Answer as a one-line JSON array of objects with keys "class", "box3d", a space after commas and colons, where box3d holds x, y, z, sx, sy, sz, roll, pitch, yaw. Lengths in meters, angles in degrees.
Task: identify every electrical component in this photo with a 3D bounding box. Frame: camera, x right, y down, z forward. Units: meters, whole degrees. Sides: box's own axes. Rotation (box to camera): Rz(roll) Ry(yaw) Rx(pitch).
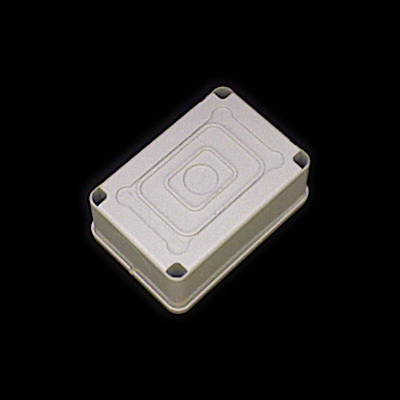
[{"class": "electrical component", "box3d": [0.000, 0.000, 0.628, 0.113, 0.078, 0.057, -41, -20, -18]}]
